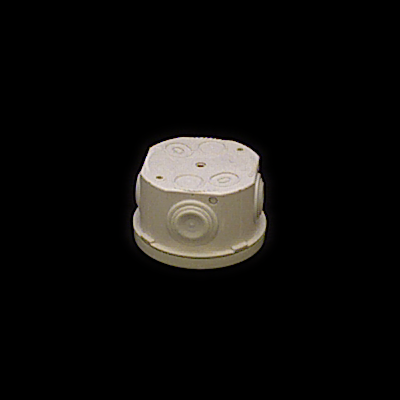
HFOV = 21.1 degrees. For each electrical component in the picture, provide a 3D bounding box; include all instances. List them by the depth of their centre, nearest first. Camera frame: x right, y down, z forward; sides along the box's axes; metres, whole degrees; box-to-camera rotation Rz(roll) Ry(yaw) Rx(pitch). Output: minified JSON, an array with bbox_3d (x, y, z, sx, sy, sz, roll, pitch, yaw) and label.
[{"bbox_3d":[0.000,0.000,0.638,0.080,0.051,0.079,1,31,-1],"label":"electrical component"}]
